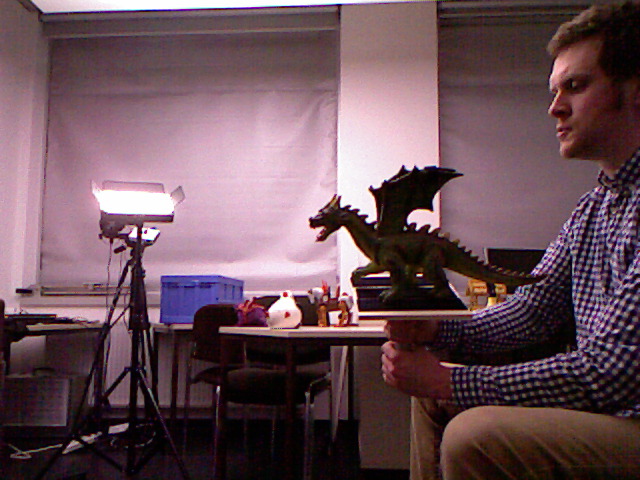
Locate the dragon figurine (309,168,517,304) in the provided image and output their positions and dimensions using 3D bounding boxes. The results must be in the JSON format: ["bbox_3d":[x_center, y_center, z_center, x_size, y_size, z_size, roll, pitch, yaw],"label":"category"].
[{"bbox_3d":[0.183,-0.015,0.968,0.411,0.239,0.124,-3,23,-7],"label":"dragon figurine"}]
